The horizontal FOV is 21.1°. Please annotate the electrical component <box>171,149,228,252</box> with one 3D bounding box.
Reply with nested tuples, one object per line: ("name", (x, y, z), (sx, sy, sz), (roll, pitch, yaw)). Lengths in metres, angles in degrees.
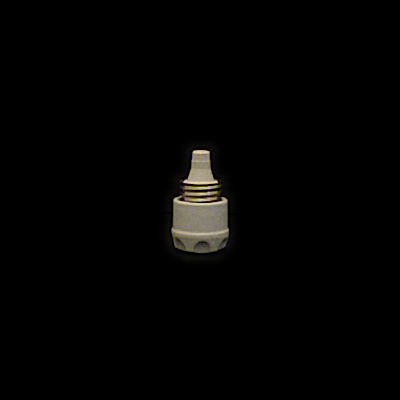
("electrical component", (0.000, 0.000, 0.655), (0.035, 0.062, 0.035), (1, 10, 0))
